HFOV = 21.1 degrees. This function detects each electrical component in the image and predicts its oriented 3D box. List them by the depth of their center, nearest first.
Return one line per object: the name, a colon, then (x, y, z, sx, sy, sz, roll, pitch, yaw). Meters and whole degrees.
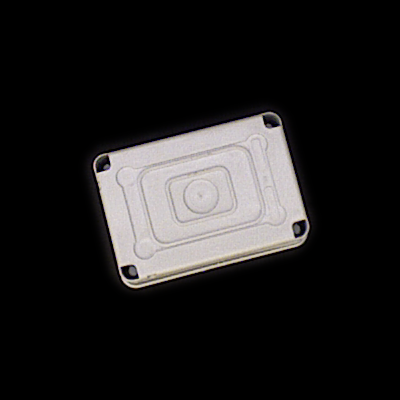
electrical component: (0.000, 0.000, 0.629, 0.113, 0.078, 0.057, -14, -6, -2)
